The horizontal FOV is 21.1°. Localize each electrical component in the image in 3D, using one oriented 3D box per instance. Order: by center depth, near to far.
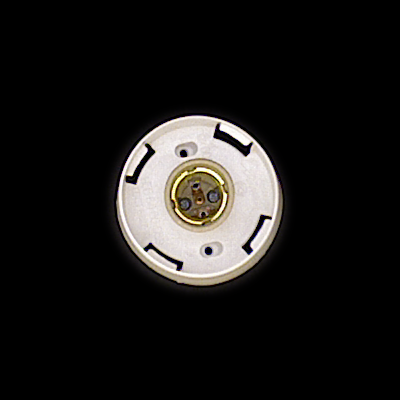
[{"bbox_3d":[0.000,0.000,0.625,0.099,0.099,0.064,0,-7,0],"label":"electrical component"}]
